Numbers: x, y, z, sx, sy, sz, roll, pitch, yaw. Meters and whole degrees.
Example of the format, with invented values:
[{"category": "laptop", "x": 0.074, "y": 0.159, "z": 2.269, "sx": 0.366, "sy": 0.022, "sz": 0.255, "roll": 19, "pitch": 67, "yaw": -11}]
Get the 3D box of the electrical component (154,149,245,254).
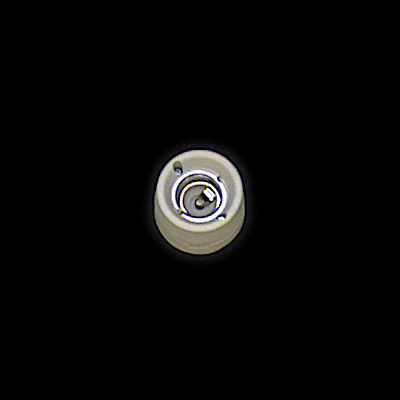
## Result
[{"category": "electrical component", "x": 0.000, "y": 0.000, "z": 0.632, "sx": 0.055, "sy": 0.056, "sz": 0.047, "roll": 0, "pitch": -16, "yaw": 0}]
